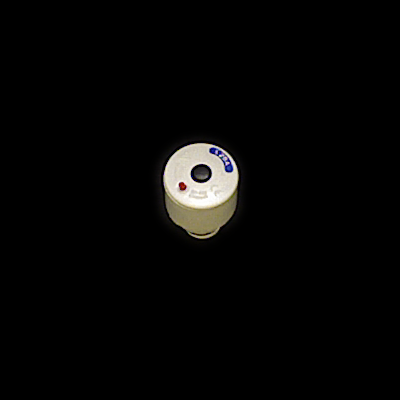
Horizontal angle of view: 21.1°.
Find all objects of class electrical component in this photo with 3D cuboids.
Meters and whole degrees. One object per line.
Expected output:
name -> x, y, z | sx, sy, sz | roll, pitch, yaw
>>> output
electrical component -> 0.000, 0.000, 0.617 | 0.040, 0.040, 0.078 | 0, -27, 1
